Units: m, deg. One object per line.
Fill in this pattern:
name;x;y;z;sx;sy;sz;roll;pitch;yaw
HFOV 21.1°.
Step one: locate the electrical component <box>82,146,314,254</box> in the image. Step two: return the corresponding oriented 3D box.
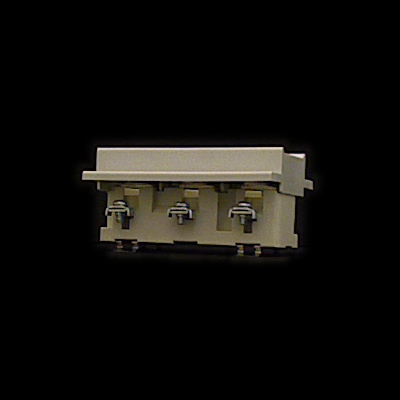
electrical component;0.000;0.000;0.664;0.121;0.063;0.079;1;0;23
